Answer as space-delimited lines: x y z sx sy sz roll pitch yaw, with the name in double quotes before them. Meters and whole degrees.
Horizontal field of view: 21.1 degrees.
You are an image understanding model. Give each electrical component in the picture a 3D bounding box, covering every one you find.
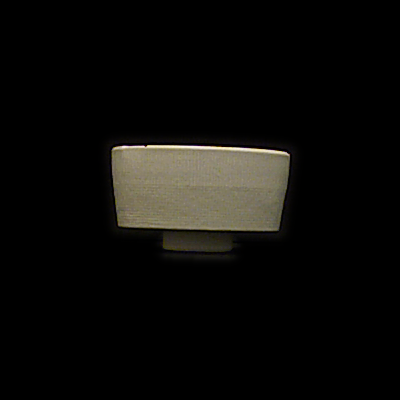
"electrical component" 0.000 0.000 0.652 0.108 0.060 0.108 2 0 1
